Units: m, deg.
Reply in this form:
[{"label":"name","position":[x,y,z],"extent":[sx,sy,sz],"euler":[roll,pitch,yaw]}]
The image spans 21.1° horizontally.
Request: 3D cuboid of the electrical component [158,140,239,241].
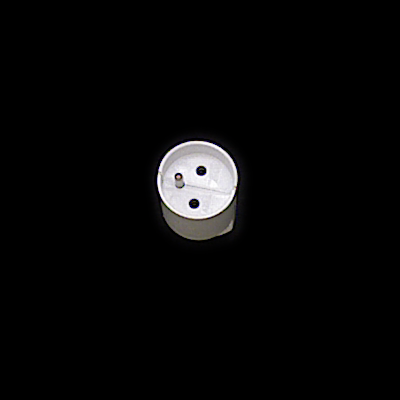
[{"label":"electrical component","position":[0.000,0.000,0.615],"extent":[0.043,0.043,0.080],"euler":[0,-17,1]}]
